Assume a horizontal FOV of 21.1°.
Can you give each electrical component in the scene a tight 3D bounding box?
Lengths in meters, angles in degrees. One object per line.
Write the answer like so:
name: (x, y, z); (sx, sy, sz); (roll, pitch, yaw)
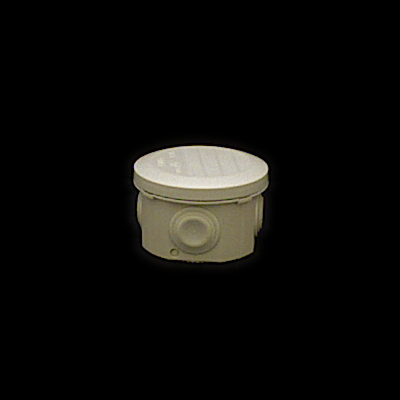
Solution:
electrical component: (0.000, 0.000, 0.643); (0.080, 0.051, 0.079); (1, 21, 0)
